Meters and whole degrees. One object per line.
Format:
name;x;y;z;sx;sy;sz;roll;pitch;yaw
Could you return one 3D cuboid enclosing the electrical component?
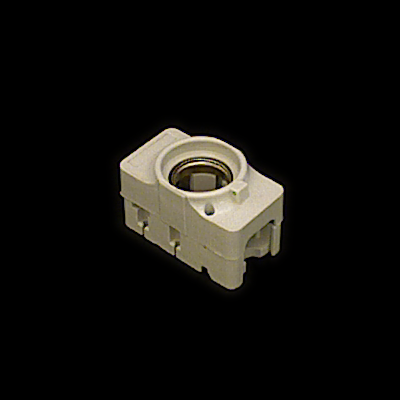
electrical component;0.000;0.000;0.639;0.088;0.056;0.050;30;50;28
